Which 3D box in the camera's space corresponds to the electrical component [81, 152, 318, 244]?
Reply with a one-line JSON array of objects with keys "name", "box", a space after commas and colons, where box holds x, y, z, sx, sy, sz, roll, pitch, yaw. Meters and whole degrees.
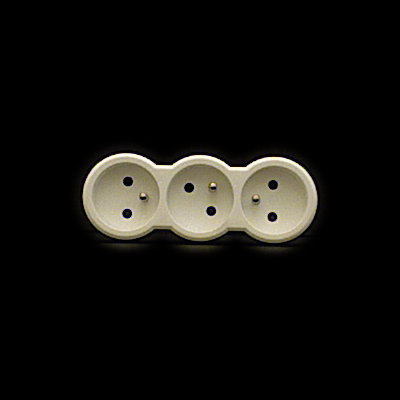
[{"name": "electrical component", "box": [0.000, 0.000, 0.660, 0.138, 0.052, 0.073, 1, 0, 0]}]
